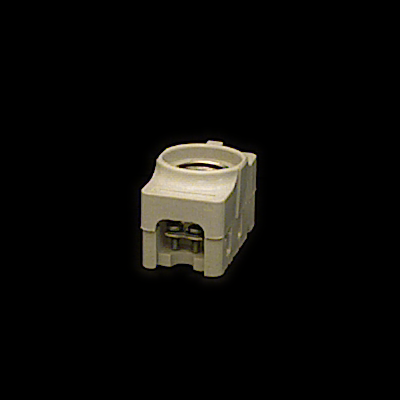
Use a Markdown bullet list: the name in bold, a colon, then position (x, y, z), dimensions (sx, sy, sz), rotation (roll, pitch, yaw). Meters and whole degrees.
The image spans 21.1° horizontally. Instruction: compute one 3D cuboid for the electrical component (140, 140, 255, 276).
- **electrical component**: position (0.000, 0.000, 0.647), dimensions (0.050, 0.056, 0.089), rotation (7, 23, 14)
